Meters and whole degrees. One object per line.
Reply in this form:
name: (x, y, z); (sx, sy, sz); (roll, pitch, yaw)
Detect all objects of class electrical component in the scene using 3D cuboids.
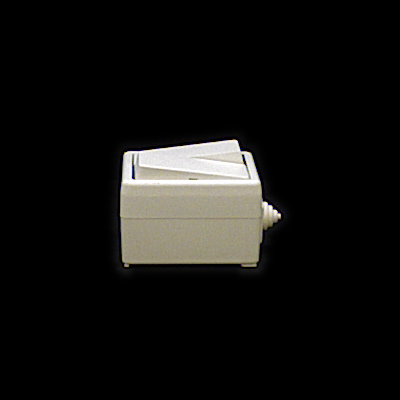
electrical component: (0.000, 0.000, 0.639); (0.096, 0.061, 0.061); (0, 21, -3)
